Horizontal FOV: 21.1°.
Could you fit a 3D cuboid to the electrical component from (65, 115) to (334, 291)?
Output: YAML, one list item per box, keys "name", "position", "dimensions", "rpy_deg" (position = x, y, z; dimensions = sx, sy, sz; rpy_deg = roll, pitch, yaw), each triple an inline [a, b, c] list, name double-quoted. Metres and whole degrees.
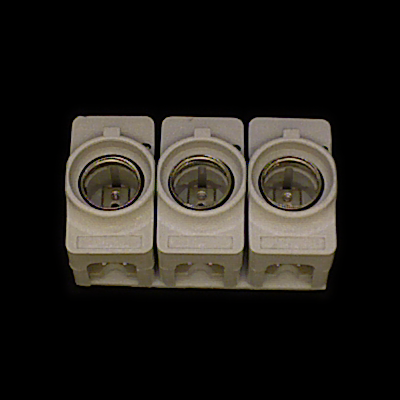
- name: "electrical component"
  position: [0.000, 0.000, 0.632]
  dimensions: [0.150, 0.089, 0.062]
  rpy_deg: [1, -28, 0]
